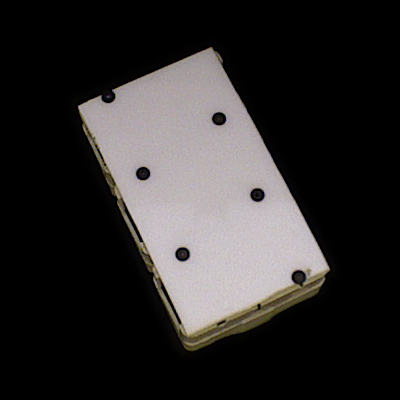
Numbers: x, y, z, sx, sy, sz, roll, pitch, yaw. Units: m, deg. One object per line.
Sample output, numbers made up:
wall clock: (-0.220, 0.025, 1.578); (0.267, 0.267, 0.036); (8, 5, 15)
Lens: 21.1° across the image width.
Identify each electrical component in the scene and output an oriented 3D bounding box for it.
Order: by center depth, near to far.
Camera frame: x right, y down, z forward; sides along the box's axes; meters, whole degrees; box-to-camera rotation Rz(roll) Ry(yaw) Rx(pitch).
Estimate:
electrical component: (0.000, 0.000, 0.631); (0.090, 0.149, 0.062); (-24, -16, -7)
